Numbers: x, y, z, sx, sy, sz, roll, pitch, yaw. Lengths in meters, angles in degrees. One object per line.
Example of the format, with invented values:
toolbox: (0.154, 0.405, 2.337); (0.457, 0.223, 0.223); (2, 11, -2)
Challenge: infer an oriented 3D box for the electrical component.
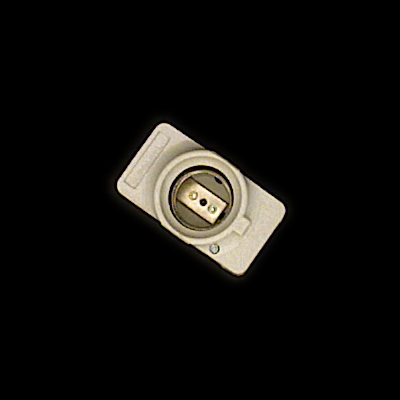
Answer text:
electrical component: (0.000, 0.000, 0.637); (0.089, 0.050, 0.055); (35, -4, 4)
